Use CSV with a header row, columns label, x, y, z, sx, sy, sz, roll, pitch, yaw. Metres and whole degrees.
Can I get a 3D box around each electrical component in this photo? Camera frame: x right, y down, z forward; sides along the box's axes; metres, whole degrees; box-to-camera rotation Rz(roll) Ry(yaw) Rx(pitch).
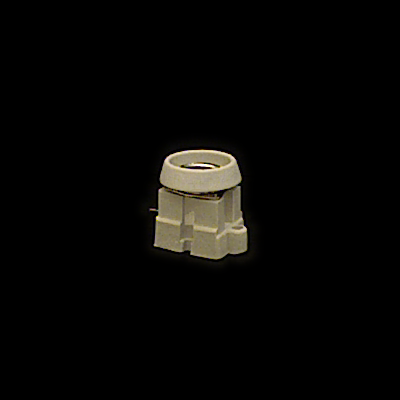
label,x,y,z,sx,sy,sz,roll,pitch,yaw
electrical component,0.000,0.000,0.646,0.066,0.056,0.048,11,22,23
